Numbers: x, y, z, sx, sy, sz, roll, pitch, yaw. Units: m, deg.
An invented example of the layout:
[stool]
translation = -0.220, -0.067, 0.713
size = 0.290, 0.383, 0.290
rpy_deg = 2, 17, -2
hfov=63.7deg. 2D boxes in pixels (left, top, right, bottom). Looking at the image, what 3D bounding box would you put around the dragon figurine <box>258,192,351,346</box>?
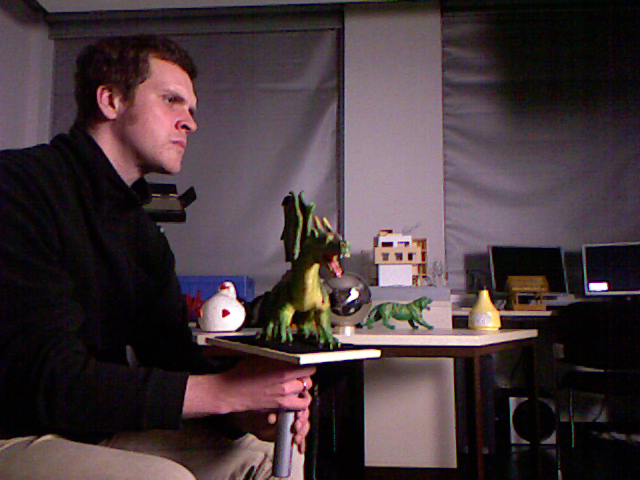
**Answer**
[dragon figurine]
translation = -0.040, 0.042, 0.851
size = 0.122, 0.243, 0.410
rpy_deg = 4, -2, -18
